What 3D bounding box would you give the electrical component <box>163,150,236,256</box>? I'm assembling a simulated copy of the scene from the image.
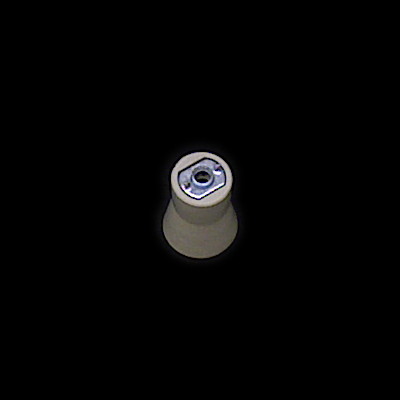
[{"bbox_3d":[0.000,0.000,0.624,0.044,0.044,0.065,0,-27,-1],"label":"electrical component"}]
